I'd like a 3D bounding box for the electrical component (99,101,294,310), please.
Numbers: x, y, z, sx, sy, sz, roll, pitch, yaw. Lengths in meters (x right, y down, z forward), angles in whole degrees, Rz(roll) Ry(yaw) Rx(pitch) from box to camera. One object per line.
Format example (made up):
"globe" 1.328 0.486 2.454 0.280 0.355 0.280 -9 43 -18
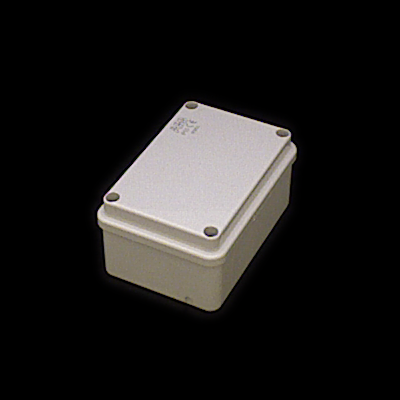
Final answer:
"electrical component" 0.000 0.000 0.632 0.078 0.057 0.112 19 45 19
